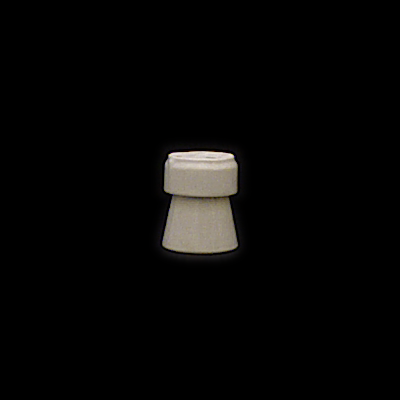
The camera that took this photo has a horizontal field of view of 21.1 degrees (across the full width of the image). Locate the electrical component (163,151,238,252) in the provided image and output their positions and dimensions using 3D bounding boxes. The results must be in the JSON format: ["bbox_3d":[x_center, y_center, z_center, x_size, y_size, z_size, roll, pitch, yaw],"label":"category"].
[{"bbox_3d":[0.000,0.000,0.646,0.045,0.055,0.044,1,11,0],"label":"electrical component"}]
